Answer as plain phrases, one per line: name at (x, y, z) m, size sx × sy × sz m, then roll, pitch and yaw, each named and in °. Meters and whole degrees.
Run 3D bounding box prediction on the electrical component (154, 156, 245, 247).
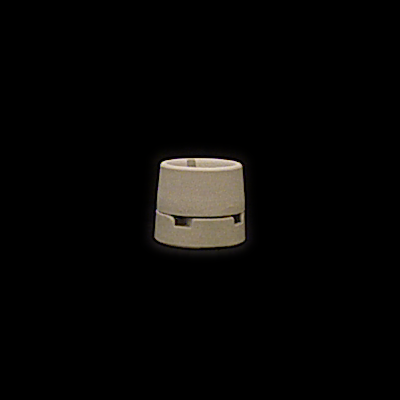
electrical component at (0.000, 0.000, 0.647) m, size 0.055 × 0.047 × 0.055 m, roll 1°, pitch 10°, yaw 0°
